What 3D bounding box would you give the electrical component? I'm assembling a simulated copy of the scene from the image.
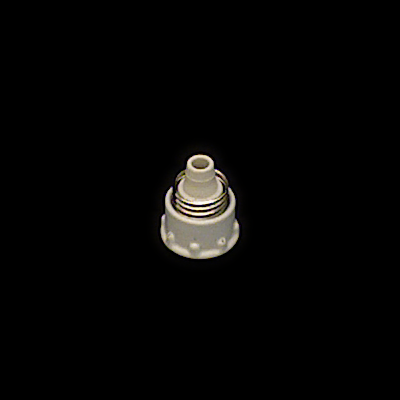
[{"bbox_3d":[0.000,0.000,0.636,0.048,0.062,0.047,0,44,0],"label":"electrical component"}]
